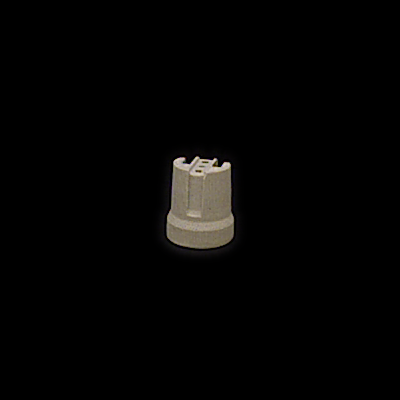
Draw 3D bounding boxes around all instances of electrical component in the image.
[{"bbox_3d":[0.000,0.000,0.642,0.040,0.046,0.040,1,22,0],"label":"electrical component"}]
